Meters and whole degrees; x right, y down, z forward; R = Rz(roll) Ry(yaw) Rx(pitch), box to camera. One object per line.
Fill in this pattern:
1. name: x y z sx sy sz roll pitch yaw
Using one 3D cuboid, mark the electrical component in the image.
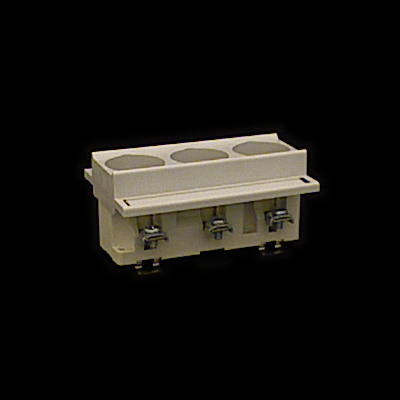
1. electrical component: 0.000 0.000 0.652 0.122 0.064 0.077 -7 21 -21
